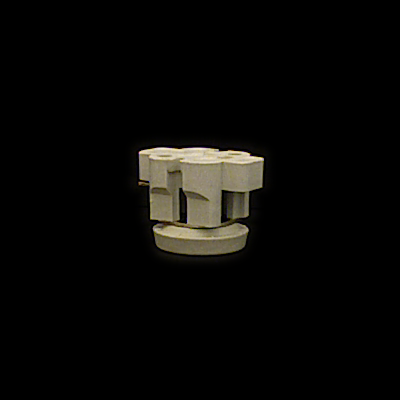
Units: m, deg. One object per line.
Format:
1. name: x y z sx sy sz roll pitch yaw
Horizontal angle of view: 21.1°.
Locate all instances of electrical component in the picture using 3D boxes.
1. electrical component: 0.000 0.000 0.651 0.077 0.057 0.058 7 13 32
